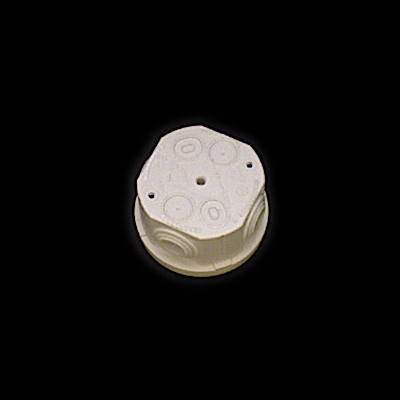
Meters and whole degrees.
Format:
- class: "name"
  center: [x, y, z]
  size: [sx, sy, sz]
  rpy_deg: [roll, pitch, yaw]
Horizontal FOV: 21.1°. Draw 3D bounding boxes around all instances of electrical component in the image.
- class: "electrical component"
  center: [0.000, 0.000, 0.631]
  size: [0.080, 0.080, 0.050]
  rpy_deg: [0, -27, 1]
